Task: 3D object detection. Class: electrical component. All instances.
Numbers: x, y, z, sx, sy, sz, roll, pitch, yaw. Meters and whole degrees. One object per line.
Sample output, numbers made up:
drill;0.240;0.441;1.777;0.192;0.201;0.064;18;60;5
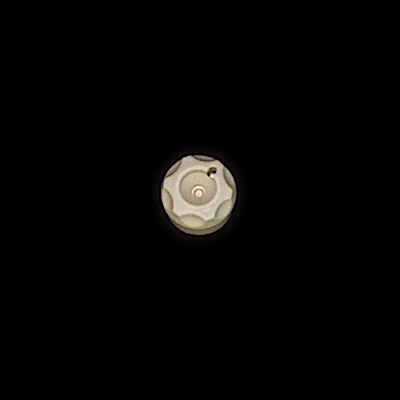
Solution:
electrical component;0.000;0.000;0.633;0.043;0.043;0.061;0;-15;1
